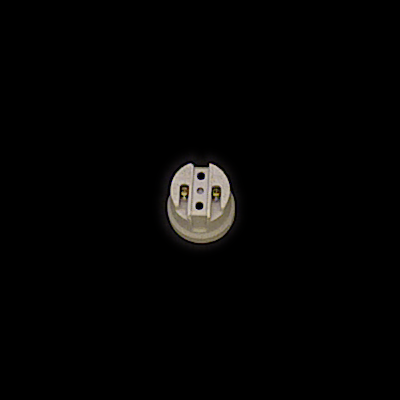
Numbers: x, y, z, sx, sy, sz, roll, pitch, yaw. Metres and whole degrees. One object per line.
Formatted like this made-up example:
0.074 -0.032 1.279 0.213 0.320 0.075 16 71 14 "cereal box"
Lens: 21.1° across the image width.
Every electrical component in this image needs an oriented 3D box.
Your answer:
0.000 0.000 0.633 0.040 0.040 0.046 0 -17 1 "electrical component"
